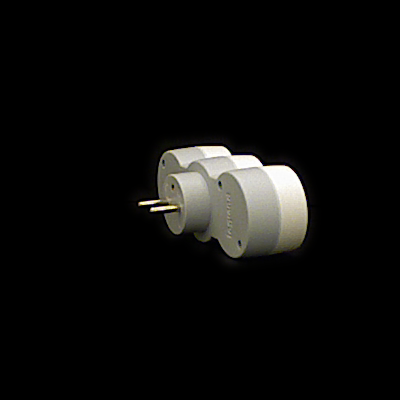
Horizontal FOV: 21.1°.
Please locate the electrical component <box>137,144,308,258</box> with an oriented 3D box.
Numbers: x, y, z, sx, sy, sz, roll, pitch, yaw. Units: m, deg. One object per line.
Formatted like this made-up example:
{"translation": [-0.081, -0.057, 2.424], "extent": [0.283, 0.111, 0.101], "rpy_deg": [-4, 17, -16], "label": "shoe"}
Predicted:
{"translation": [0.000, 0.000, 0.651], "extent": [0.074, 0.052, 0.136], "rpy_deg": [-6, 13, -24], "label": "electrical component"}
